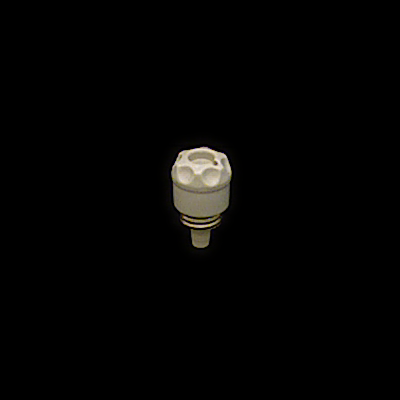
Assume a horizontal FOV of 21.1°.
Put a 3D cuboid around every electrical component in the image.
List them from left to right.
[{"bbox_3d":[0.000,0.000,0.639,0.035,0.062,0.035,1,33,0],"label":"electrical component"}]
